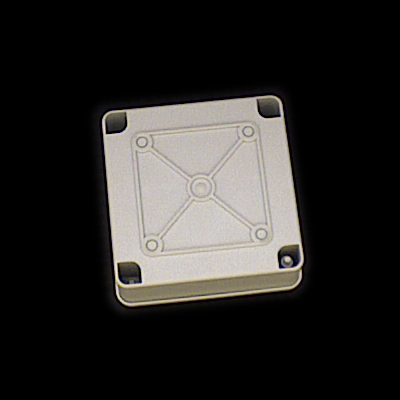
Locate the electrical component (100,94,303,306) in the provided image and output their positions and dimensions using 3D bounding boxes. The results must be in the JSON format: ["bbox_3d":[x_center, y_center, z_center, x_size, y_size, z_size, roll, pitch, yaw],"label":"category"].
[{"bbox_3d":[0.000,0.000,0.627,0.109,0.109,0.056,-6,-17,-2],"label":"electrical component"}]
